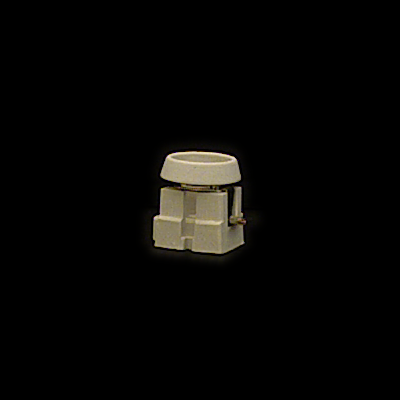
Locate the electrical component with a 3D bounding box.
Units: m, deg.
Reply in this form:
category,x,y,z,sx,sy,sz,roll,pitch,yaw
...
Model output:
category,x,y,z,sx,sy,sz,roll,pitch,yaw
electrical component,0.000,0.000,0.652,0.066,0.056,0.048,6,15,22
